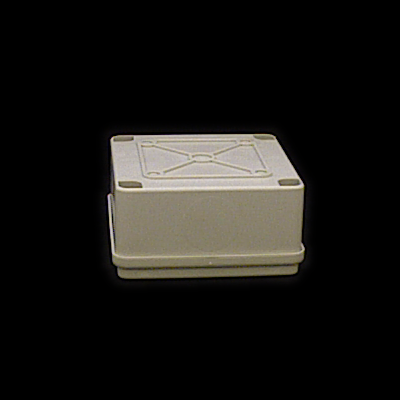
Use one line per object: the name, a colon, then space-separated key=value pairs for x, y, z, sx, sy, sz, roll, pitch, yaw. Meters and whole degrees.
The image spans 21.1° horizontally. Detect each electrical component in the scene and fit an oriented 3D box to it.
electrical component: x=0.000 y=0.000 z=0.642 sx=0.109 sy=0.057 sz=0.107 roll=-1 pitch=20 yaw=-6
